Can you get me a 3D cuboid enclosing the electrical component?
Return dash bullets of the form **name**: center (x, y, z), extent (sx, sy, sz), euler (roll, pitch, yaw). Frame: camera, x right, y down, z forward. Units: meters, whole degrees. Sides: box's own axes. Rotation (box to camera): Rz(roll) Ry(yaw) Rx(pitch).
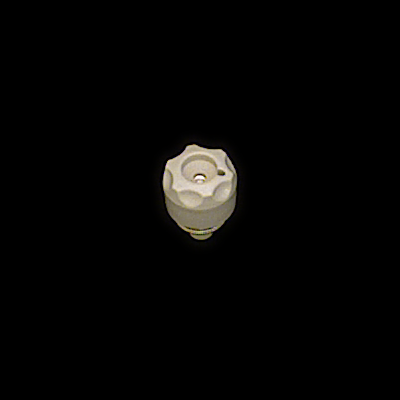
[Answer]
- **electrical component**: center (0.000, 0.000, 0.635), extent (0.043, 0.043, 0.062), euler (0, -37, 1)
